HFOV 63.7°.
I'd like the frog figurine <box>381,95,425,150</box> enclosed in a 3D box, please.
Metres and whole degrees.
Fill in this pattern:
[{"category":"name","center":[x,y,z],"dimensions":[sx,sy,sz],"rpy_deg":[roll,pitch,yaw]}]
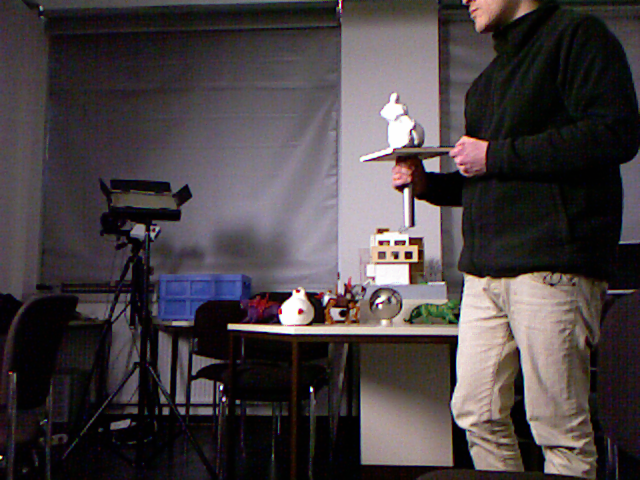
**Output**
[{"category":"frog figurine","center":[0.231,-0.323,1.438],"dimensions":[0.123,0.159,0.138],"rpy_deg":[-2,5,-4]}]
